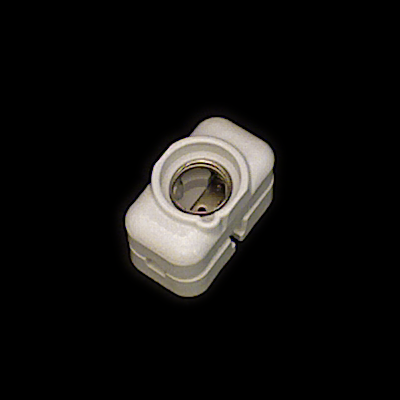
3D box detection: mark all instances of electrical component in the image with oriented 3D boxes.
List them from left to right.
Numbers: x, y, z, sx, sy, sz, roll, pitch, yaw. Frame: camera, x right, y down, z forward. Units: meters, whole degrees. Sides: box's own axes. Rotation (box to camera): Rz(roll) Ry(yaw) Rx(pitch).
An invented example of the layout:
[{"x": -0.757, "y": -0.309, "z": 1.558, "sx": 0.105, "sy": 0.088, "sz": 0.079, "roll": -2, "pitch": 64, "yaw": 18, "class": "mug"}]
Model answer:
[{"x": 0.000, "y": 0.000, "z": 0.633, "sx": 0.053, "sy": 0.095, "sz": 0.059, "roll": 31, "pitch": -22, "yaw": 15, "class": "electrical component"}]
